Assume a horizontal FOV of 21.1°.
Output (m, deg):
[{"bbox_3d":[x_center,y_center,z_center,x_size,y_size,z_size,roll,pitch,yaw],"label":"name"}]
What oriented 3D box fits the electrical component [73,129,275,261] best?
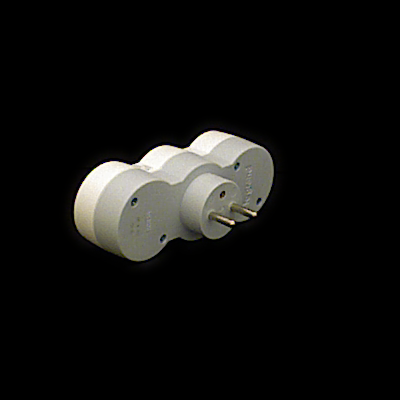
[{"bbox_3d":[0.000,0.000,0.644,0.072,0.053,0.138,22,29,38],"label":"electrical component"}]
